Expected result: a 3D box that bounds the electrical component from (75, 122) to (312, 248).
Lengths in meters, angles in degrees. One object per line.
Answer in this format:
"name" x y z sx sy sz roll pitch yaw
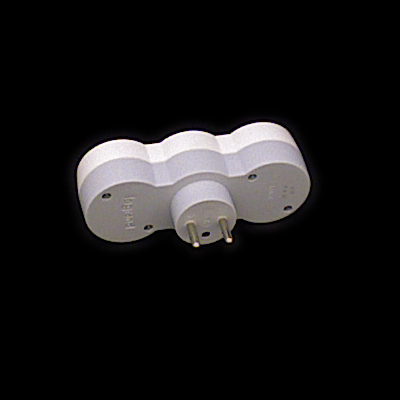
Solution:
"electrical component" 0.000 0.000 0.635 0.138 0.052 0.073 -8 45 -10
